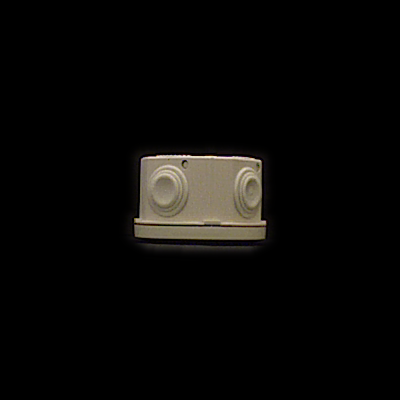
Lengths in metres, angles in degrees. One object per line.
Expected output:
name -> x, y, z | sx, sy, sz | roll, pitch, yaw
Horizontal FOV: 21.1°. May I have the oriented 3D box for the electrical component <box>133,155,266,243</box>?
electrical component -> 0.000, 0.000, 0.651 | 0.080, 0.051, 0.080 | 1, 0, 0
